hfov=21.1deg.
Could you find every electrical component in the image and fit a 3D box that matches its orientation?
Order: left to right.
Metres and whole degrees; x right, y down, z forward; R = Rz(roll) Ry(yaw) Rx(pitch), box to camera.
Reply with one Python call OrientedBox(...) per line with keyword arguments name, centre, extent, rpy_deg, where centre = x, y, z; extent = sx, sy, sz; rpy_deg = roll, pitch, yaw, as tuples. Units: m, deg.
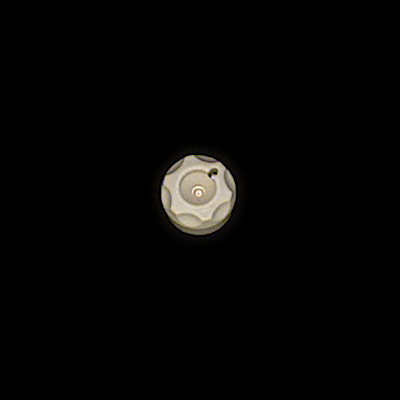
OrientedBox(name="electrical component", centre=(0.000, 0.000, 0.633), extent=(0.043, 0.043, 0.061), rpy_deg=(0, -15, 1))
